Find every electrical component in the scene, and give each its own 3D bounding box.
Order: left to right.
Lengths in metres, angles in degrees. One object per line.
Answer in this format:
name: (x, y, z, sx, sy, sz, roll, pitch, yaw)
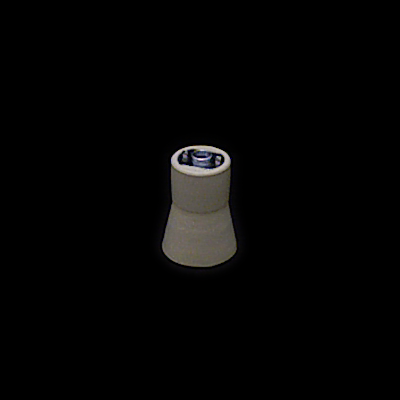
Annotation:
electrical component: (0.000, 0.000, 0.632, 0.044, 0.066, 0.044, 1, 33, 0)
